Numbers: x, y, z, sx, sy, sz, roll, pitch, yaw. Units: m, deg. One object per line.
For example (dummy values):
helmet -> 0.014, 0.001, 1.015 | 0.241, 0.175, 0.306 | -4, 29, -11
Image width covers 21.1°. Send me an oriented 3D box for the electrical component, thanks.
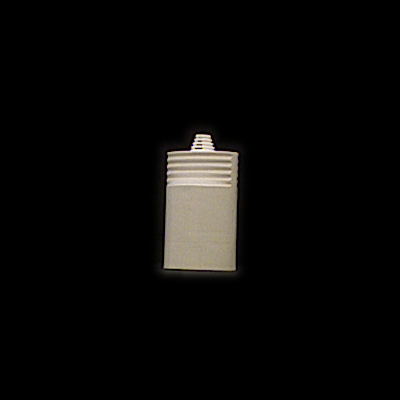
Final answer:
electrical component -> 0.000, 0.000, 0.649 | 0.043, 0.081, 0.043 | 1, 1, 0
